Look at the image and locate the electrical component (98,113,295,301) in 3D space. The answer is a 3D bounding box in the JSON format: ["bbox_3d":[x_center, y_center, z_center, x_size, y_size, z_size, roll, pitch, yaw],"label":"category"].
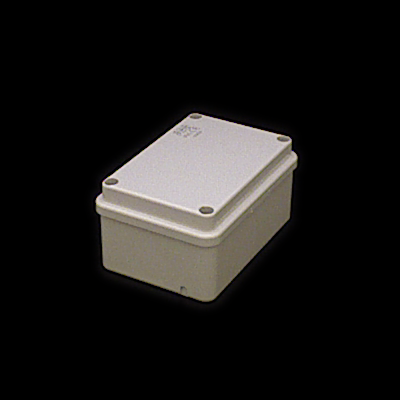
[{"bbox_3d":[0.000,0.000,0.635,0.077,0.058,0.112,17,35,24],"label":"electrical component"}]
